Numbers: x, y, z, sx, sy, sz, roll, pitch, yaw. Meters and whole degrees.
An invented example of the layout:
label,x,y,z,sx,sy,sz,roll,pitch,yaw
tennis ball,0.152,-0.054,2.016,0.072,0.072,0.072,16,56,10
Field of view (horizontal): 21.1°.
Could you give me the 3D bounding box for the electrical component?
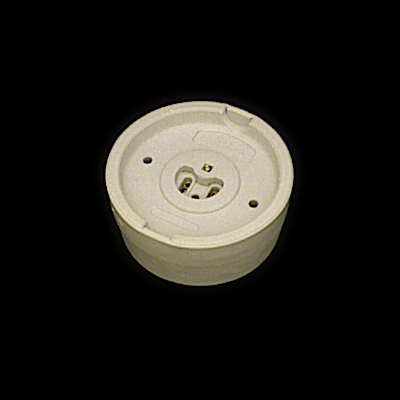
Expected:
label,x,y,z,sx,sy,sz,roll,pitch,yaw
electrical component,0.000,0.000,0.638,0.108,0.107,0.061,0,-37,0
